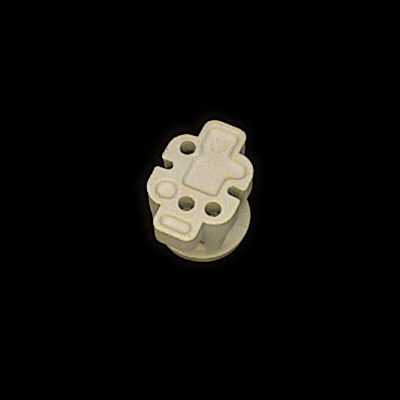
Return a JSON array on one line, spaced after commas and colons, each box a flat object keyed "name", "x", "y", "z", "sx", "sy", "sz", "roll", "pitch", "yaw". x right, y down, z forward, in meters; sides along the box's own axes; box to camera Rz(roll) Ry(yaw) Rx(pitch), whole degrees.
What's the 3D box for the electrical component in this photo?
[{"name": "electrical component", "x": 0.000, "y": 0.000, "z": 0.636, "sx": 0.057, "sy": 0.079, "sz": 0.057, "roll": 21, "pitch": -26, "yaw": 11}]
